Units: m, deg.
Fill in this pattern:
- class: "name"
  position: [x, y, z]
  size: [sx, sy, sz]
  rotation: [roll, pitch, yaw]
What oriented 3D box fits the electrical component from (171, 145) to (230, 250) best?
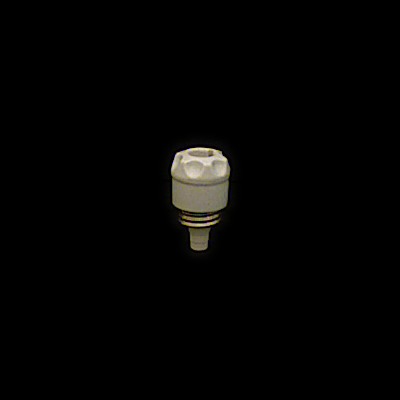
- class: "electrical component"
  position: [0.000, 0.000, 0.646]
  size: [0.035, 0.062, 0.034]
  rotation: [1, 22, 0]
